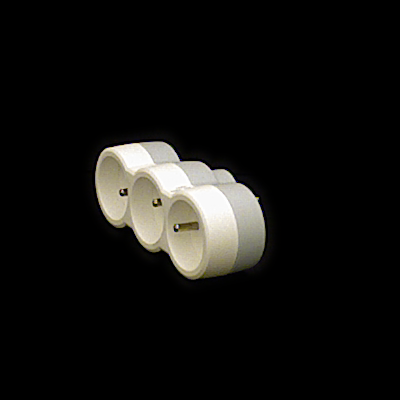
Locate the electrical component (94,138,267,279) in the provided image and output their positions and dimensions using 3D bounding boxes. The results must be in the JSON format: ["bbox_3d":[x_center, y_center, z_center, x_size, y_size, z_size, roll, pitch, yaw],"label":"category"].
[{"bbox_3d":[0.000,0.000,0.648,0.074,0.053,0.136,-11,24,-31],"label":"electrical component"}]
